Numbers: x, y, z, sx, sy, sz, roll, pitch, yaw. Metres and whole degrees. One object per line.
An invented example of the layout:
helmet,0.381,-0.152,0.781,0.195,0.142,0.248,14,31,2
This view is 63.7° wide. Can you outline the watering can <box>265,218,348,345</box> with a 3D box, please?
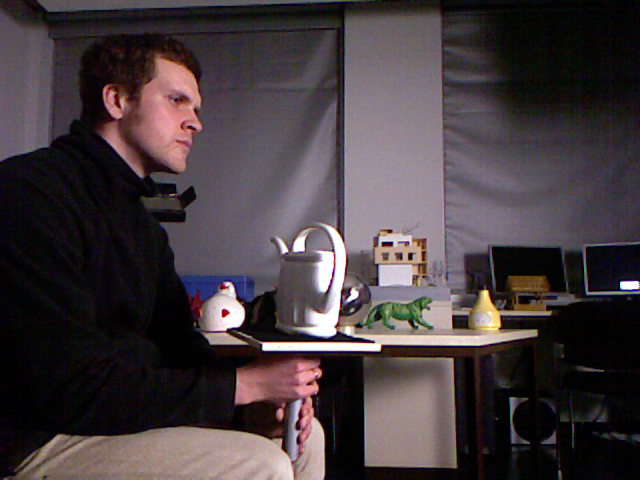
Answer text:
watering can,-0.036,0.075,0.929,0.104,0.225,0.347,4,-3,-23
